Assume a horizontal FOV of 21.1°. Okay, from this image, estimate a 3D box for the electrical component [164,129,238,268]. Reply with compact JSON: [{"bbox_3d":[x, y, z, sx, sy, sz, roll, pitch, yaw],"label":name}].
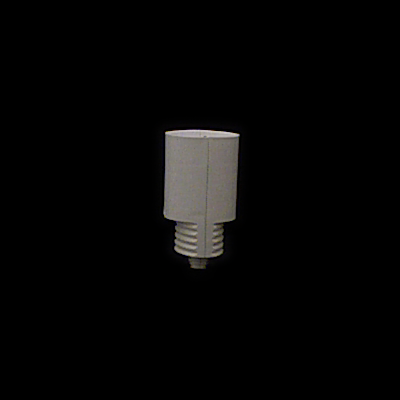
[{"bbox_3d":[0.000,0.000,0.640,0.043,0.082,0.042,1,12,0],"label":"electrical component"}]
